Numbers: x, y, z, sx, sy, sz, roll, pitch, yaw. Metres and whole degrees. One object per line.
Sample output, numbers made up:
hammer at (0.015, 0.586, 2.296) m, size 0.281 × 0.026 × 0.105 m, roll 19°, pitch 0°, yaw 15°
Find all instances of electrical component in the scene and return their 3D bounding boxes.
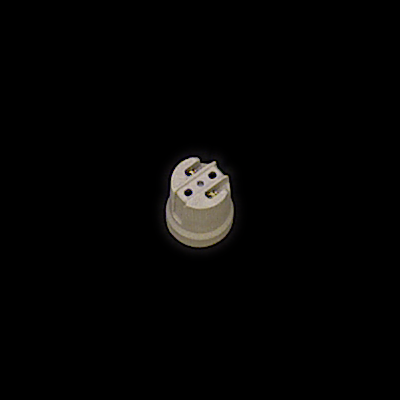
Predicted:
electrical component at (0.000, 0.000, 0.633) m, size 0.040 × 0.040 × 0.046 m, roll 0°, pitch -26°, yaw 0°
